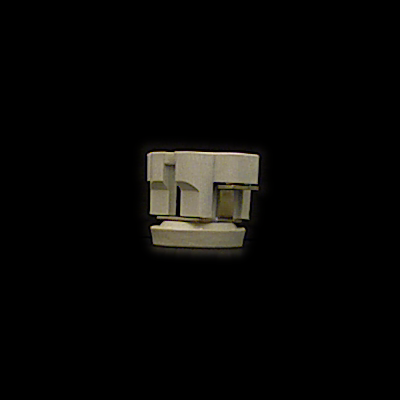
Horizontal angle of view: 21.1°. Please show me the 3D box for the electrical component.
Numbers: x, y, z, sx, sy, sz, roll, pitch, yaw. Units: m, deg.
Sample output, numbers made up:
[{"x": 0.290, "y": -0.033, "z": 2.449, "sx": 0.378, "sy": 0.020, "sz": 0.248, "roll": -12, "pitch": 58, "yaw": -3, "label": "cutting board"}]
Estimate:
[{"x": 0.000, "y": 0.000, "z": 0.656, "sx": 0.078, "sy": 0.057, "sz": 0.058, "roll": 4, "pitch": 2, "yaw": 45, "label": "electrical component"}]
